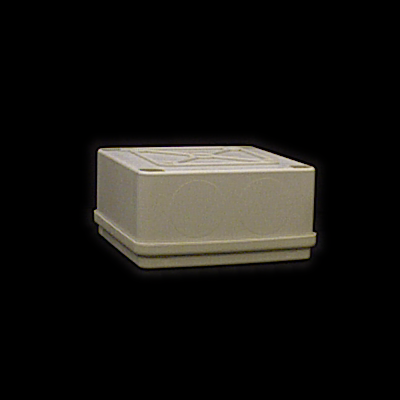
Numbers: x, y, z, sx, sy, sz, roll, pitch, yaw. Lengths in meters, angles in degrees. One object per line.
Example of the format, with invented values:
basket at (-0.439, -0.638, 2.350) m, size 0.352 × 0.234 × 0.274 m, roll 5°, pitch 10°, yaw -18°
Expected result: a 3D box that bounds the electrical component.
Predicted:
electrical component at (0.000, 0.000, 0.645) m, size 0.109 × 0.056 × 0.108 m, roll -2°, pitch 11°, yaw -19°
